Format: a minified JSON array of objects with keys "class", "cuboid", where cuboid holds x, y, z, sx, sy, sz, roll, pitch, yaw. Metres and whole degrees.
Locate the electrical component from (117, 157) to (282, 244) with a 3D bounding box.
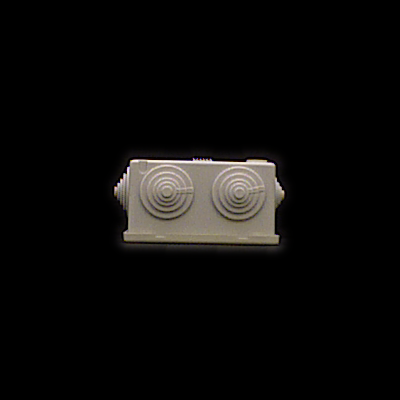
[{"class":"electrical component","cuboid":[0.000,0.000,0.649,0.100,0.048,0.099,1,0,-3]}]
